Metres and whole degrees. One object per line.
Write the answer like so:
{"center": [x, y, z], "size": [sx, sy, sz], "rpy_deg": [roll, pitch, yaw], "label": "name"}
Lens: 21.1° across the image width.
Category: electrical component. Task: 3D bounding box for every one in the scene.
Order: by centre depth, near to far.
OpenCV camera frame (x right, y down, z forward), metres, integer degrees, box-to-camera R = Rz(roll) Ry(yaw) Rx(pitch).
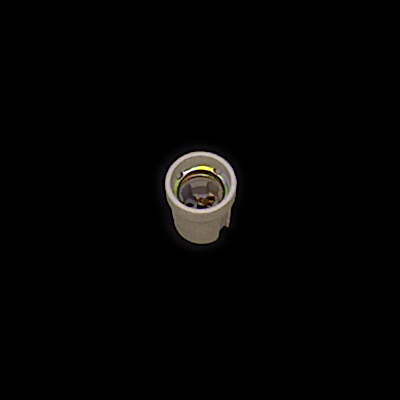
{"center": [0.000, 0.000, 0.628], "size": [0.040, 0.040, 0.046], "rpy_deg": [0, -28, 0], "label": "electrical component"}
